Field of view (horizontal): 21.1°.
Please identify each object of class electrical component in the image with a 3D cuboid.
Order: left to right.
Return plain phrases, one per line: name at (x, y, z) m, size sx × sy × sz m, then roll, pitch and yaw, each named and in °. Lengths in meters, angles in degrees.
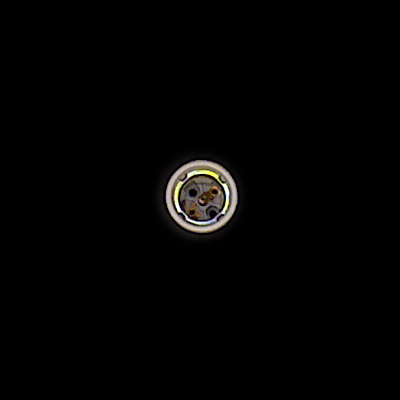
electrical component at (0.000, 0.000, 0.627) m, size 0.040 × 0.040 × 0.046 m, roll 0°, pitch -6°, yaw 0°
